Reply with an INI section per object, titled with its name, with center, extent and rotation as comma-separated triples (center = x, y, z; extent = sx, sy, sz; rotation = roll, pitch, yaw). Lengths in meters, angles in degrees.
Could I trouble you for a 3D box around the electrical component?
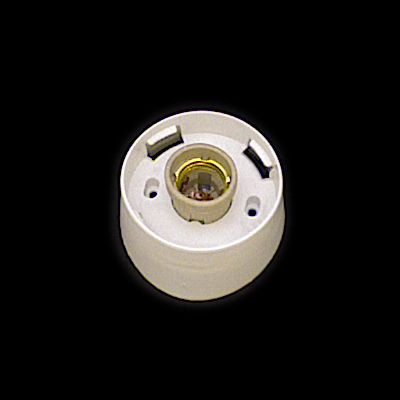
[electrical component]
center = 0.000, 0.000, 0.625
extent = 0.099, 0.099, 0.064
rotation = 0, -27, 0
